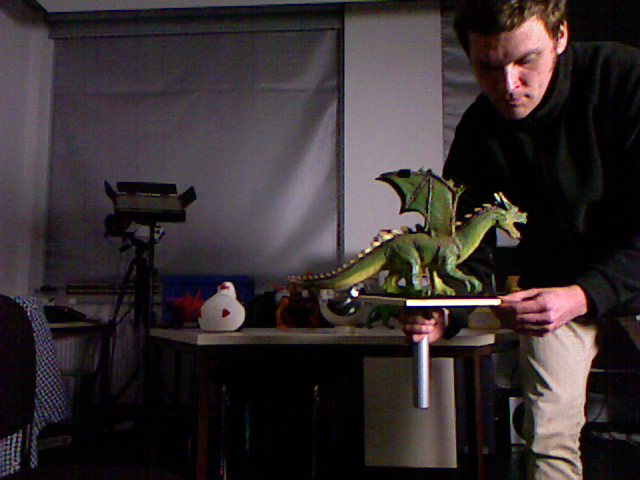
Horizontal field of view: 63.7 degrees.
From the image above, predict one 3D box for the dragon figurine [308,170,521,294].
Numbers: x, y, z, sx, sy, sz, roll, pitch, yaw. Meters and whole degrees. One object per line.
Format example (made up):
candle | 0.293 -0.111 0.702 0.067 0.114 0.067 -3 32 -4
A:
dragon figurine | 0.181 -0.014 0.994 0.410 0.243 0.122 1 -1 5
